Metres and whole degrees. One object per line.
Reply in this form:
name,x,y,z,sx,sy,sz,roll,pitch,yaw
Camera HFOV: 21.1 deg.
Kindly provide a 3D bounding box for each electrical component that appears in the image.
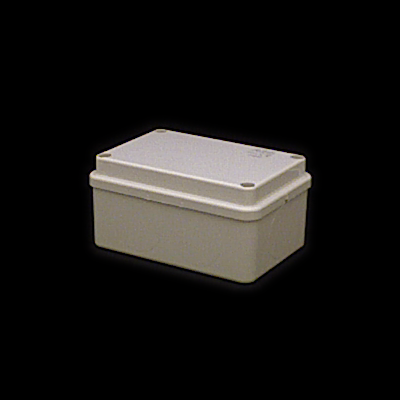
electrical component,0.000,0.000,0.641,0.112,0.058,0.077,13,24,28
